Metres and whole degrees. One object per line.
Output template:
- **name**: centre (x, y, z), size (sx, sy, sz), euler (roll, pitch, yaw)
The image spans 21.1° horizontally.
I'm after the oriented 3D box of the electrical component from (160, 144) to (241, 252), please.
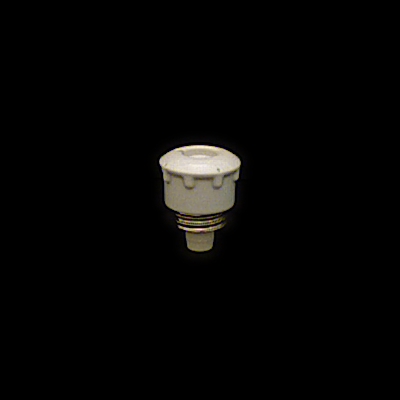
- **electrical component**: centre (0.000, 0.000, 0.643), size (0.048, 0.062, 0.047), euler (1, 21, 0)
